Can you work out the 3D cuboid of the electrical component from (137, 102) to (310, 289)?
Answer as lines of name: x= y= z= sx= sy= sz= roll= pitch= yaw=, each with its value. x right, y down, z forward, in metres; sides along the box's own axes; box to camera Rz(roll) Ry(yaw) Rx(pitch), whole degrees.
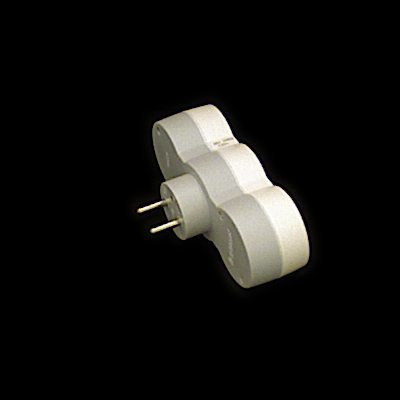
electrical component: x=0.000 y=0.000 z=0.641 sx=0.074 sy=0.053 sz=0.136 roll=-19 pitch=47 yaw=-18
